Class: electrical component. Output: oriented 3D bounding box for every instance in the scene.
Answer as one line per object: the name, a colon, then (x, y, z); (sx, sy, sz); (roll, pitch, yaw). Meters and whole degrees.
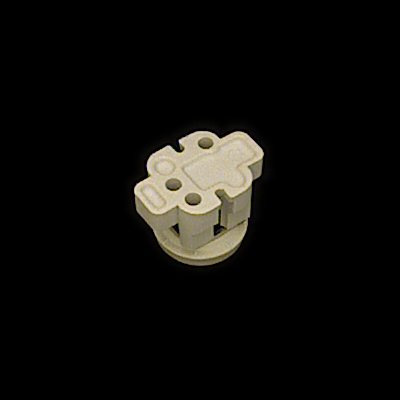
electrical component: (0.000, 0.000, 0.638); (0.079, 0.057, 0.057); (-30, -32, -23)
